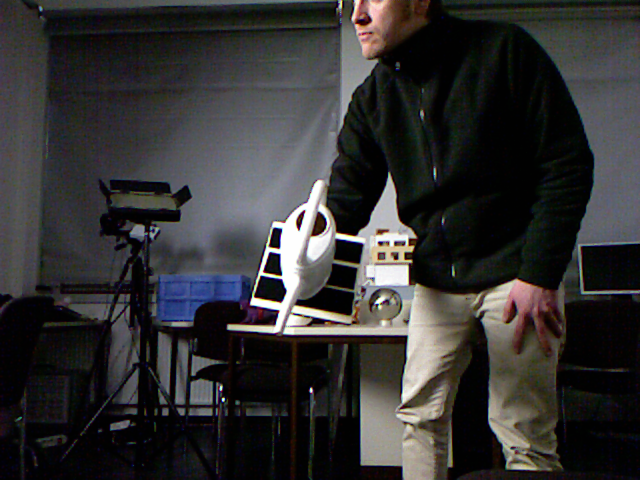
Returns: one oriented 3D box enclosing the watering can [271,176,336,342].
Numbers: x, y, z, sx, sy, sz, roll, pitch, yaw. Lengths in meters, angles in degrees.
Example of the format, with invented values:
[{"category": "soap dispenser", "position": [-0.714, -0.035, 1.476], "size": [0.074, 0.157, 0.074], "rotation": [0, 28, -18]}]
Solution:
[{"category": "watering can", "position": [-0.034, 0.047, 0.956], "size": [0.104, 0.355, 0.219], "rotation": [13, -30, 5]}]
